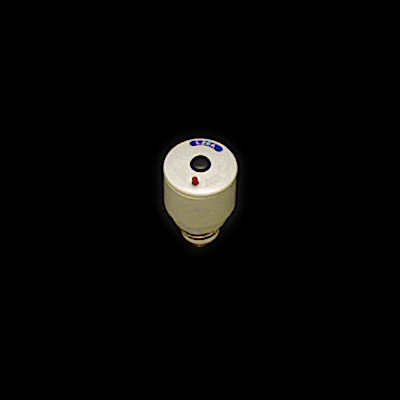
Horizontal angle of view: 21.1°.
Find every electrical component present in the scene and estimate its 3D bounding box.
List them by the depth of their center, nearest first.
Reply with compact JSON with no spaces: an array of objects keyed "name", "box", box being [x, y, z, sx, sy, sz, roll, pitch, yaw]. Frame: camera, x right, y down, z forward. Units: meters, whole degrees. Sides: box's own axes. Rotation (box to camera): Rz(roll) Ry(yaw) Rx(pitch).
[{"name":"electrical component","box":[0.000,0.000,0.619,0.040,0.040,0.078,0,-37,0]}]
